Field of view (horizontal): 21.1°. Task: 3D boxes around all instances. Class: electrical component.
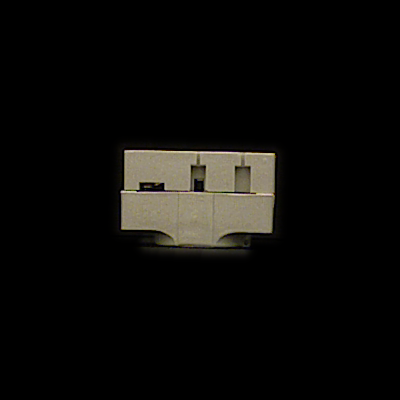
[{"bbox_3d":[0.000,0.000,0.657,0.089,0.056,0.050,2,1,4],"label":"electrical component"}]
